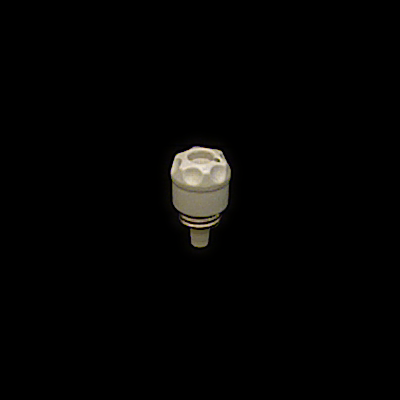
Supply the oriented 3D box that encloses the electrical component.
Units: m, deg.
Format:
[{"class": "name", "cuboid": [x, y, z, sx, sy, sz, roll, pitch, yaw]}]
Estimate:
[{"class": "electrical component", "cuboid": [0.000, 0.000, 0.640, 0.035, 0.062, 0.035, 1, 33, 0]}]
